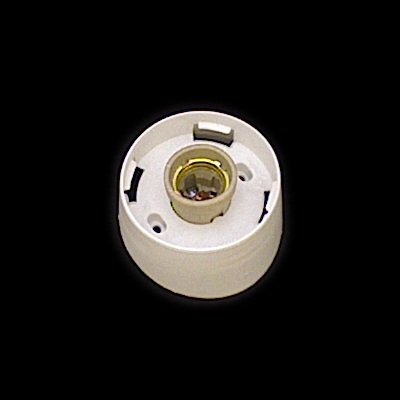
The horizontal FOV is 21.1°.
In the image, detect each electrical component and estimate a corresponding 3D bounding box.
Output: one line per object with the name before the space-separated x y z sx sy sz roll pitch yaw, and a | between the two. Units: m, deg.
electrical component | 0.000 0.000 0.625 0.099 0.099 0.064 0 -27 0
